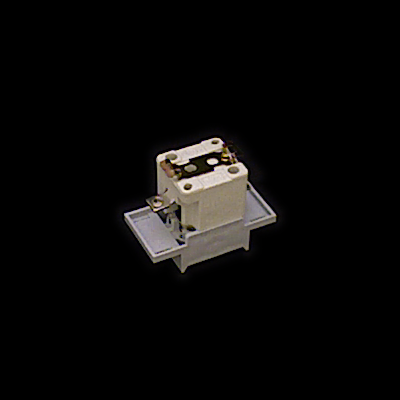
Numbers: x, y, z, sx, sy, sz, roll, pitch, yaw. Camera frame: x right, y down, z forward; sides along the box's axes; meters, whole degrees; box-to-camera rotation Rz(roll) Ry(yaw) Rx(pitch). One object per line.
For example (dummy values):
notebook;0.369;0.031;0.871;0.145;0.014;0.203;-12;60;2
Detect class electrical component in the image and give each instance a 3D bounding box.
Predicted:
electrical component;0.000;0.000;0.630;0.081;0.064;0.042;-19;46;-20
